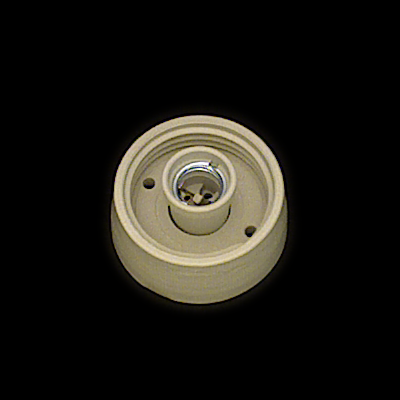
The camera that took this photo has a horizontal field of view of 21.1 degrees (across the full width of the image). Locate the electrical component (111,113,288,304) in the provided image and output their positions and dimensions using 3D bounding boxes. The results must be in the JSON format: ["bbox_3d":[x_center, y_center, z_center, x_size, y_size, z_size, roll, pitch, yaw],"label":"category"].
[{"bbox_3d":[0.000,0.000,0.633,0.108,0.108,0.060,0,-27,-1],"label":"electrical component"}]
